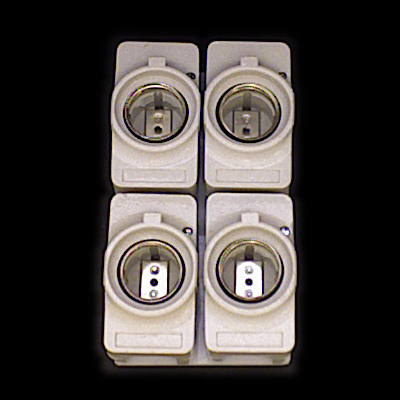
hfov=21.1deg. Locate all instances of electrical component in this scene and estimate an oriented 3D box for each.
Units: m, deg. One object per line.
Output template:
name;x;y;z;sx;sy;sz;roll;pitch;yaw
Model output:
electrical component;0.000;0.000;0.625;0.105;0.187;0.060;0;-17;0
